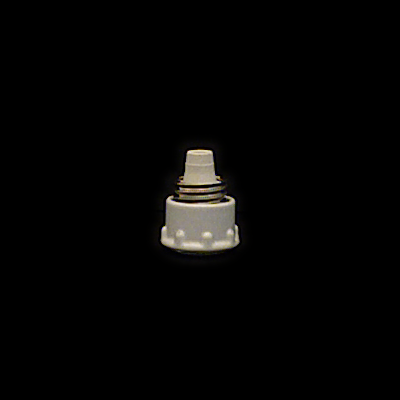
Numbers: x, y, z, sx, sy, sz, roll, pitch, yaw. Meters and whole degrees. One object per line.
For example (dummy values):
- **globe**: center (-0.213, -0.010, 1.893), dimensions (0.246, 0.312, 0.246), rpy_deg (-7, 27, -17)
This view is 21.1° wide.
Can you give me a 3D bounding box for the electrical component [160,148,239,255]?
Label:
- **electrical component**: center (0.000, 0.000, 0.649), dimensions (0.048, 0.062, 0.048), rpy_deg (0, 12, 1)
